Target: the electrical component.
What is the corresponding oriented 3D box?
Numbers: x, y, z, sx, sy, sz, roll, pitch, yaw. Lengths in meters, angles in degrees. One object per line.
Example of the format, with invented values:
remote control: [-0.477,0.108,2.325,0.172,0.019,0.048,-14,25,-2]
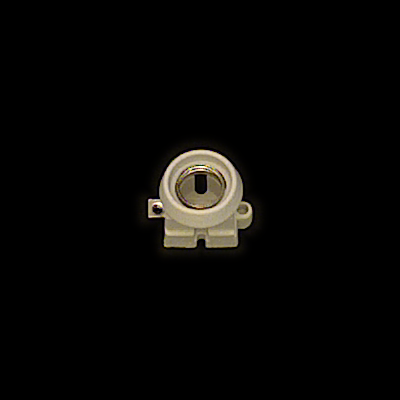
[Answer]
electrical component: [0.000,0.000,0.637,0.066,0.048,0.055,-1,-28,-1]
